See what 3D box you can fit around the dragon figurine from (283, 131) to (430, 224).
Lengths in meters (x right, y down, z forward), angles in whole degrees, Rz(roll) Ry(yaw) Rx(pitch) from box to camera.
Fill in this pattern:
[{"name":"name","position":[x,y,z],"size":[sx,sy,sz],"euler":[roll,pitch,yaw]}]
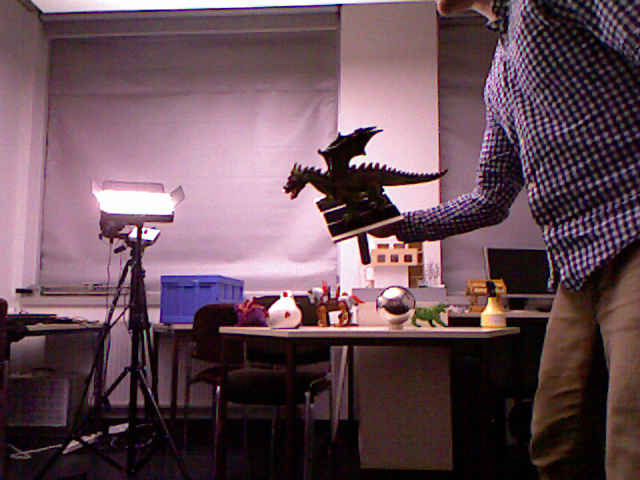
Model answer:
[{"name":"dragon figurine","position":[0.098,-0.182,1.355],"size":[0.412,0.237,0.125],"euler":[-22,48,-8]}]
